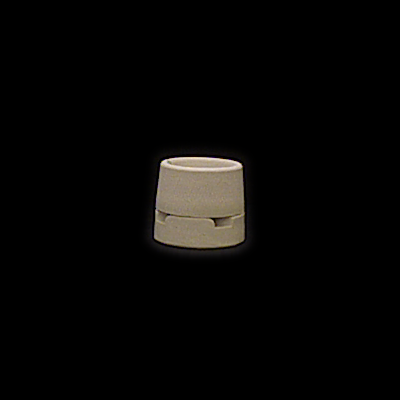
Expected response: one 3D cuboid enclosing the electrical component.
[{"bbox_3d":[0.000,0.000,0.645,0.055,0.047,0.055,2,11,0],"label":"electrical component"}]
